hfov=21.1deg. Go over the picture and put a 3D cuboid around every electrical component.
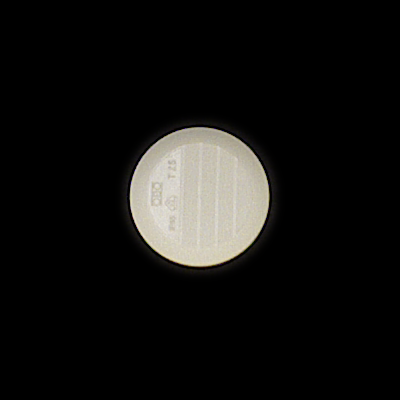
[{"bbox_3d":[0.000,0.000,0.631,0.080,0.080,0.050,0,-7,0],"label":"electrical component"}]
